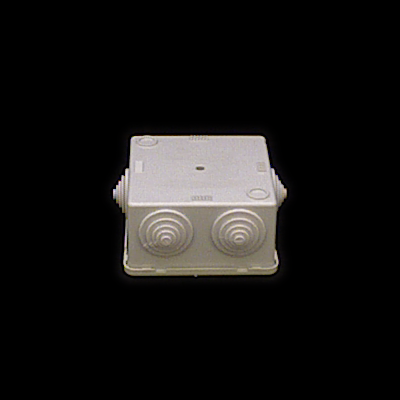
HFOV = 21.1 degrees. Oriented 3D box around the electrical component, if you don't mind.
[{"bbox_3d":[0.000,0.000,0.638,0.100,0.049,0.098,0,32,-2],"label":"electrical component"}]
